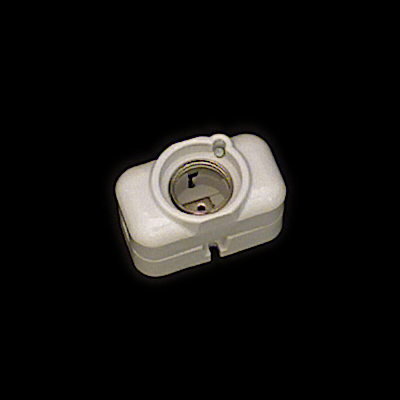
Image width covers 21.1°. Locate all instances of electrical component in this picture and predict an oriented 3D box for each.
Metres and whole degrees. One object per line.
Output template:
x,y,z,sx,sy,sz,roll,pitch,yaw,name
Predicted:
0.000,0.000,0.635,0.095,0.053,0.059,-18,-25,-9,electrical component
